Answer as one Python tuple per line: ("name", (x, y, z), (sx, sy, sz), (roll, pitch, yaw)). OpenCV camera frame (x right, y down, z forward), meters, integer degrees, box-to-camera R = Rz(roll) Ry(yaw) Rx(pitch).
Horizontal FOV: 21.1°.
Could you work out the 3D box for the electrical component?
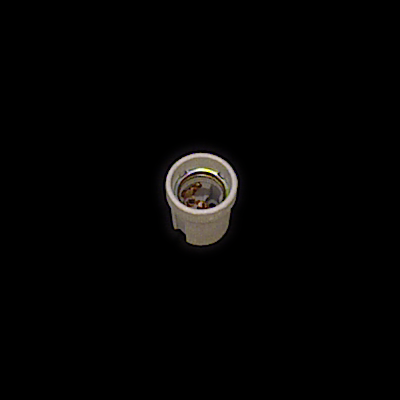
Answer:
("electrical component", (0.000, 0.000, 0.628), (0.040, 0.040, 0.046), (0, -28, -1))
